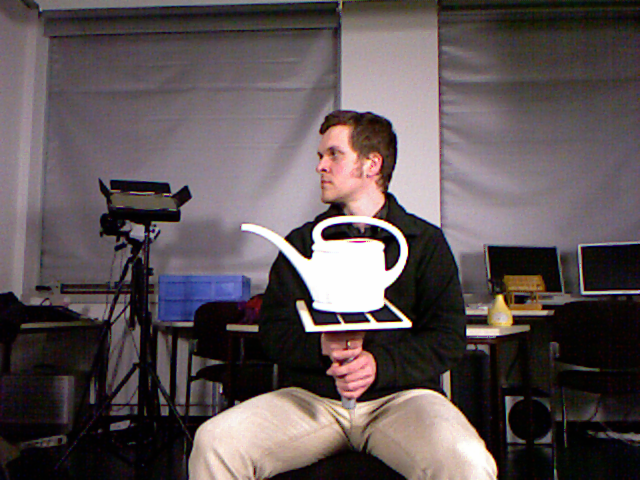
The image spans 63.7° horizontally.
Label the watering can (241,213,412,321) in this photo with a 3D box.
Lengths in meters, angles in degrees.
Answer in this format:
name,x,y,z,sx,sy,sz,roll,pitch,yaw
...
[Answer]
name,x,y,z,sx,sy,sz,roll,pitch,yaw
watering can,0.016,0.057,1.052,0.348,0.223,0.105,0,9,-6
